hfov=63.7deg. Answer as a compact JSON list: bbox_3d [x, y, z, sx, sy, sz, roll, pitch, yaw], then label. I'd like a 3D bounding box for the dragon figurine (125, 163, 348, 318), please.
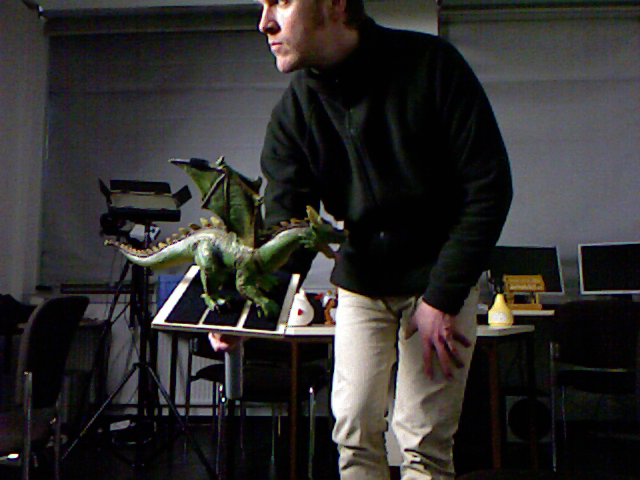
[{"bbox_3d":[-0.159,-0.016,0.822,0.411,0.238,0.125,11,31,14],"label":"dragon figurine"}]
